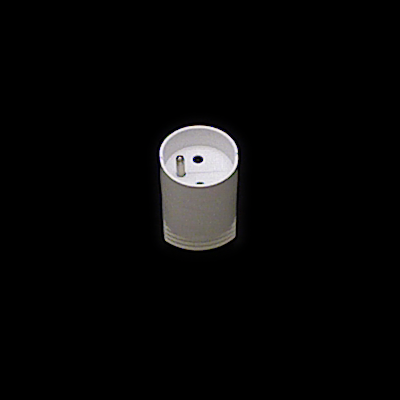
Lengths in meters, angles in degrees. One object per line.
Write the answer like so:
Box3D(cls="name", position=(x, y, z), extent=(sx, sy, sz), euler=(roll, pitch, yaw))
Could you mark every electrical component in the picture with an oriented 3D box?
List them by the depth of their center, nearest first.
Box3D(cls="electrical component", position=(0.000, 0.000, 0.617), extent=(0.043, 0.043, 0.081), euler=(0, -39, 0))
